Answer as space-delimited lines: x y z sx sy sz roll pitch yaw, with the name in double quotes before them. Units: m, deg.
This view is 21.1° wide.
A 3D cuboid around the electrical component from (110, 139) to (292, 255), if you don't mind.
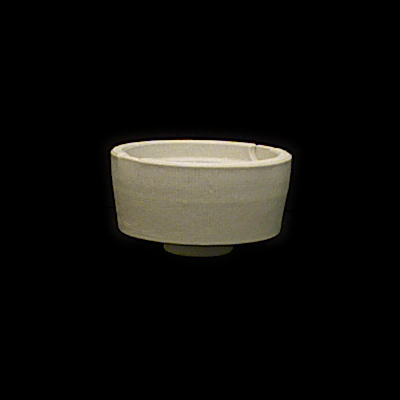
"electrical component" 0.000 0.000 0.647 0.108 0.061 0.107 2 11 0
